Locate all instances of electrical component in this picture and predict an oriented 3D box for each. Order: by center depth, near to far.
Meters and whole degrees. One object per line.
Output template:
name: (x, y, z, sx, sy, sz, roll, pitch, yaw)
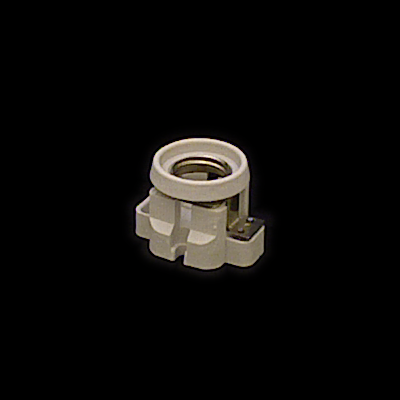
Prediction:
electrical component: (0.000, 0.000, 0.635, 0.078, 0.057, 0.057, 16, 34, 23)
